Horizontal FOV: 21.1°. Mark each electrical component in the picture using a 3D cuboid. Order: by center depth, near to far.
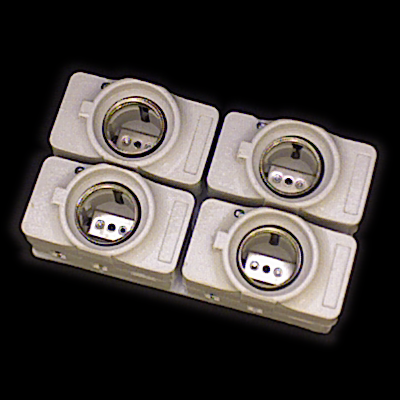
[{"bbox_3d":[0.000,0.000,0.625,0.186,0.106,0.060,15,-16,5],"label":"electrical component"}]
